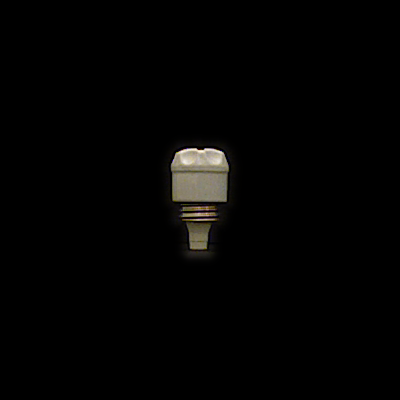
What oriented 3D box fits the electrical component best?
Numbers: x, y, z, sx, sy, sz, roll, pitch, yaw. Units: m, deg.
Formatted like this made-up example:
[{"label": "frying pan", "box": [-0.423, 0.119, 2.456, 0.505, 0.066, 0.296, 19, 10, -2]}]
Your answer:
[{"label": "electrical component", "box": [0.000, 0.000, 0.655, 0.035, 0.061, 0.035, 1, 2, 0]}]
